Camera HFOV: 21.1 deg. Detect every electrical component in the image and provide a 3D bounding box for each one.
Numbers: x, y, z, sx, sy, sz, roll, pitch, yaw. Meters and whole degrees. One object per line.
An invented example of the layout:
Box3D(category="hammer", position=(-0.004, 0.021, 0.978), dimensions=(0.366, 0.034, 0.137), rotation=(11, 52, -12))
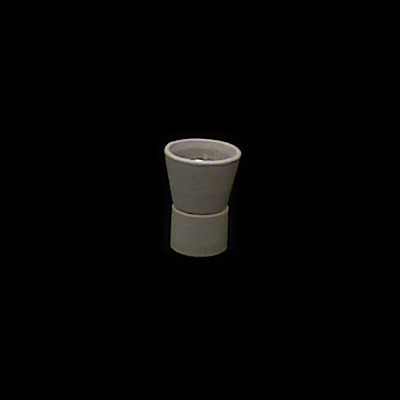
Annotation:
Box3D(category="electrical component", position=(0.000, 0.000, 0.638), dimensions=(0.044, 0.066, 0.044), rotation=(2, 21, -1))
